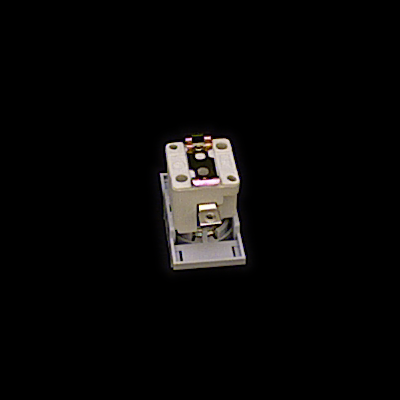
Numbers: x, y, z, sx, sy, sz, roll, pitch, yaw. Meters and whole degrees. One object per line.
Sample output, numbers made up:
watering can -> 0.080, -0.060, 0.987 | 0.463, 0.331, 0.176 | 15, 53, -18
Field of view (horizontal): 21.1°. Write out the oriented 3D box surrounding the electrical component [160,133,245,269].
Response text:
electrical component -> 0.000, 0.000, 0.630 | 0.042, 0.064, 0.080 | -5, 43, -6
